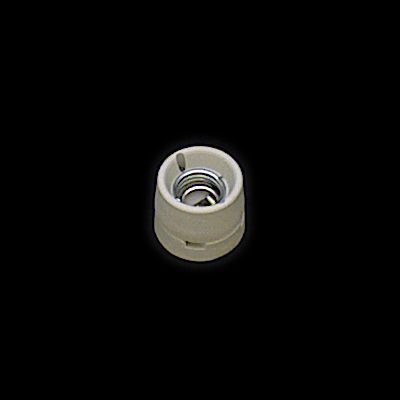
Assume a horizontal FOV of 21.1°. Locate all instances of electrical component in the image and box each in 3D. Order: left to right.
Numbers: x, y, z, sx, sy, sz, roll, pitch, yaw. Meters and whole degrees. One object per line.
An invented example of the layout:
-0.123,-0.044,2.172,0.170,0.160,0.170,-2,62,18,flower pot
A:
0.000,0.000,0.633,0.055,0.055,0.047,0,-36,-1,electrical component
